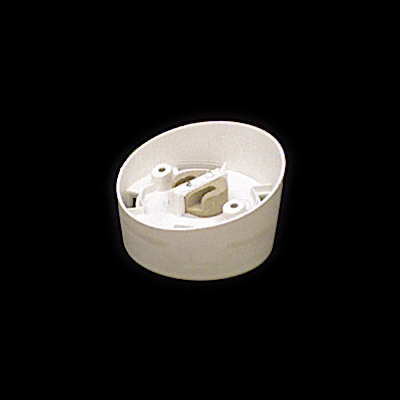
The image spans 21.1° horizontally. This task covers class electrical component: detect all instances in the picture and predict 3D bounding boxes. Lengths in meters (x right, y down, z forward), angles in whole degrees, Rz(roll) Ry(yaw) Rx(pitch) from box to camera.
[{"bbox_3d":[0.000,0.000,0.634,0.099,0.065,0.097,1,30,0],"label":"electrical component"}]
